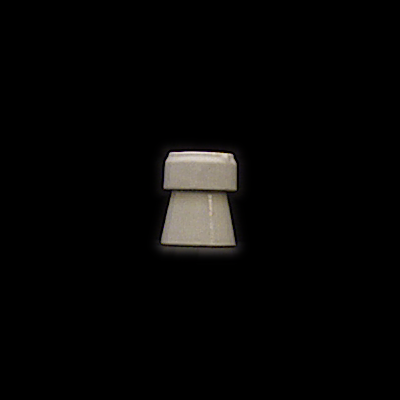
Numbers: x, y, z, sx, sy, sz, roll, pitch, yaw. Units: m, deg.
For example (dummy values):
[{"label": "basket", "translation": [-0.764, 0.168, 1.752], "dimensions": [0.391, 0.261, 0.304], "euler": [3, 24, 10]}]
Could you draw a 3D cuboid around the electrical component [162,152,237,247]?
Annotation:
[{"label": "electrical component", "translation": [0.000, 0.000, 0.651], "dimensions": [0.045, 0.055, 0.045], "euler": [2, 1, 0]}]
